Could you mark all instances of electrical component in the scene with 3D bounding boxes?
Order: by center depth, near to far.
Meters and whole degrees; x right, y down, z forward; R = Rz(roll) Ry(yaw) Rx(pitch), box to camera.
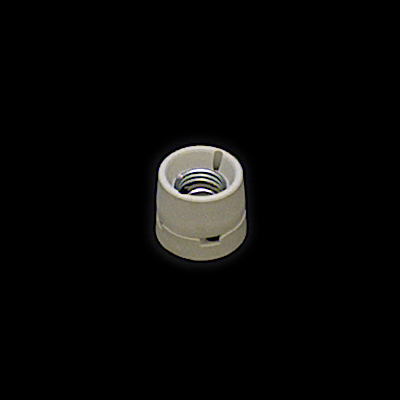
[{"bbox_3d":[0.000,0.000,0.635,0.055,0.047,0.055,0,43,0],"label":"electrical component"}]
